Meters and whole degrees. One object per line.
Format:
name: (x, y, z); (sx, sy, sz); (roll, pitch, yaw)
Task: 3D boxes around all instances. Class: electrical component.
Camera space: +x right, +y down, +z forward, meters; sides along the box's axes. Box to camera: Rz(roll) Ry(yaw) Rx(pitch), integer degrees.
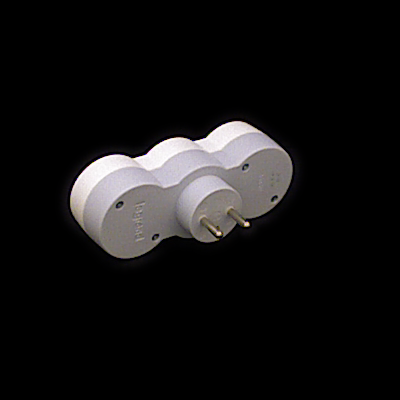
electrical component: (0.000, 0.000, 0.639); (0.138, 0.053, 0.073); (-17, 38, -29)
